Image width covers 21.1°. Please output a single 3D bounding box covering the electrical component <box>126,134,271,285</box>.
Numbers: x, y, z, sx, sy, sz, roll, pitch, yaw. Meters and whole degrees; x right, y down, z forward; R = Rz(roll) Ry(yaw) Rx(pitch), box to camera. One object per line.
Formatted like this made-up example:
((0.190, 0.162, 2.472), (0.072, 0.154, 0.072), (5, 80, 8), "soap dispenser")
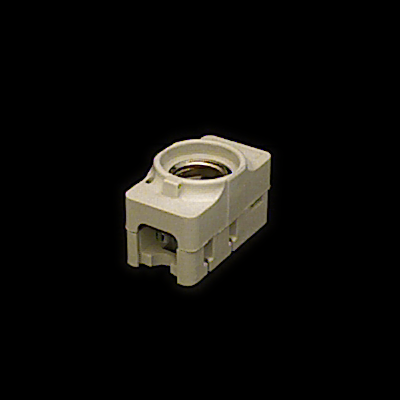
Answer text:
((0.000, 0.000, 0.643), (0.049, 0.056, 0.089), (19, 36, 27), "electrical component")
